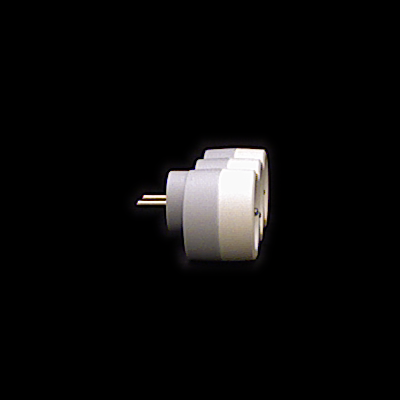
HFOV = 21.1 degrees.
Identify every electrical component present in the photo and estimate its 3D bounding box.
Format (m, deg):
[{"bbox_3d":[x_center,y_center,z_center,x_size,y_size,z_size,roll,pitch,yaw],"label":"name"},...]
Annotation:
[{"bbox_3d":[0.000,0.000,0.642,0.074,0.052,0.137,0,11,7],"label":"electrical component"}]
